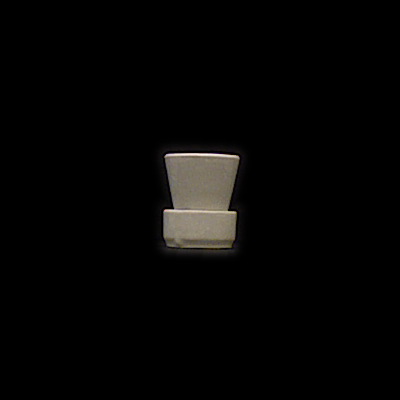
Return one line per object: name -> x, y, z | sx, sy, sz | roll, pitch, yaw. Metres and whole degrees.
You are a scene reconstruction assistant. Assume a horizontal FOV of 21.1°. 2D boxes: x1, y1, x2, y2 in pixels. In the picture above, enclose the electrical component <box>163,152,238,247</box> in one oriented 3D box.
electrical component -> 0.000, 0.000, 0.650 | 0.045, 0.055, 0.044 | 2, 2, 0
